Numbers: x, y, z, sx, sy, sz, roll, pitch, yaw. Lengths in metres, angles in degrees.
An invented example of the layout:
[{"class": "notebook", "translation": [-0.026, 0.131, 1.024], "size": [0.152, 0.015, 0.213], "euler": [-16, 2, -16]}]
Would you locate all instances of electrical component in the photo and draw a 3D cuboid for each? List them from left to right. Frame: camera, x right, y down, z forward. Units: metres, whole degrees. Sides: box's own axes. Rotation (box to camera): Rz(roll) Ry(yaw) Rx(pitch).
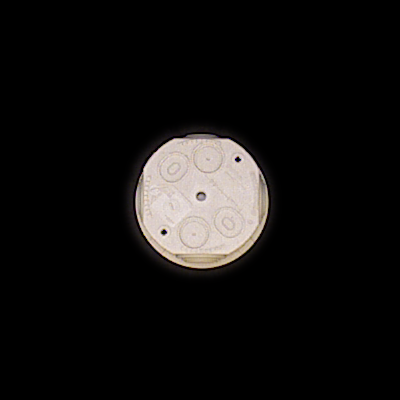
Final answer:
[{"class": "electrical component", "translation": [0.000, 0.000, 0.633], "size": [0.080, 0.080, 0.050], "euler": [0, -6, 1]}]
